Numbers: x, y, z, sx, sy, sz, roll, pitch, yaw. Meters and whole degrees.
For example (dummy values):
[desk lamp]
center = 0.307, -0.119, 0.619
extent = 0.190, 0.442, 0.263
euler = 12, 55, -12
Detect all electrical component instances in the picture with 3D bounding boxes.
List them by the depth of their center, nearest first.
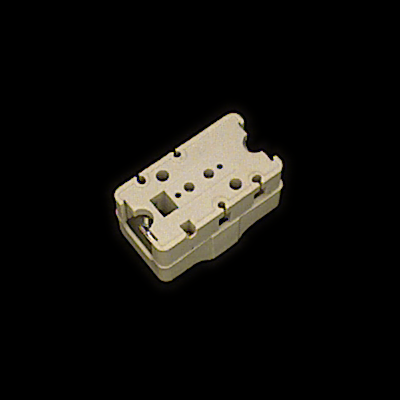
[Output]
[electrical component]
center = 0.000, 0.000, 0.636
extent = 0.090, 0.050, 0.055
euler = -35, -21, -16
